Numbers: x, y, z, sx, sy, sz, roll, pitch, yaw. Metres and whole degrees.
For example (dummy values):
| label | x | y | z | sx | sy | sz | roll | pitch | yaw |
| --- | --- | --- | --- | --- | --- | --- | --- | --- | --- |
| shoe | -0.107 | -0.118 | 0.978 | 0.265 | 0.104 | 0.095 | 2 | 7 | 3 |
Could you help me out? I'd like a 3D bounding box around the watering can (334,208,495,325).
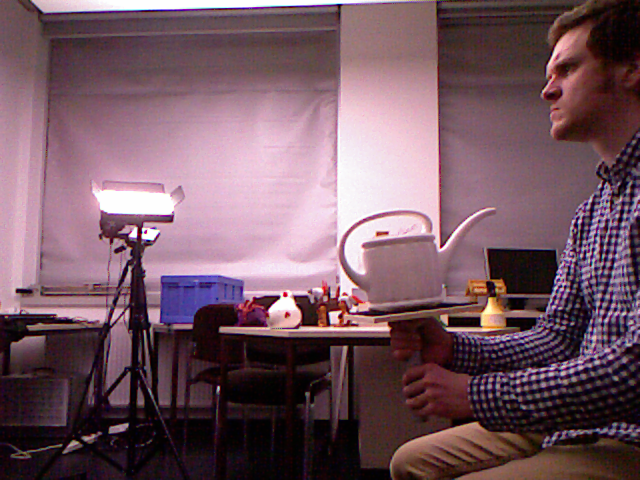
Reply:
| label | x | y | z | sx | sy | sz | roll | pitch | yaw |
| --- | --- | --- | --- | --- | --- | --- | --- | --- | --- |
| watering can | 0.198 | 0.047 | 1.002 | 0.348 | 0.224 | 0.104 | -5 | 0 | -15 |
